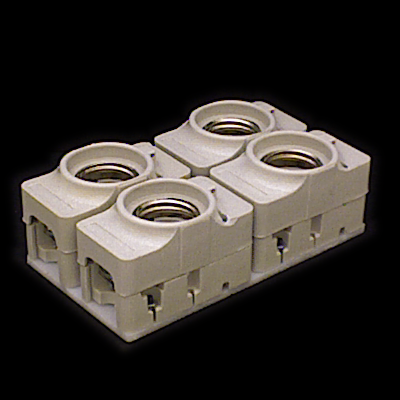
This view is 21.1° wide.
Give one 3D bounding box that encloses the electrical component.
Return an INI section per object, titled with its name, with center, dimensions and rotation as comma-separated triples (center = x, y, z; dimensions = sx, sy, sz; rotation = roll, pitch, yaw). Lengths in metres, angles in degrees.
[electrical component]
center = 0.000, 0.000, 0.634
dimensions = 0.186, 0.061, 0.104
rotation = -22, 38, -33
